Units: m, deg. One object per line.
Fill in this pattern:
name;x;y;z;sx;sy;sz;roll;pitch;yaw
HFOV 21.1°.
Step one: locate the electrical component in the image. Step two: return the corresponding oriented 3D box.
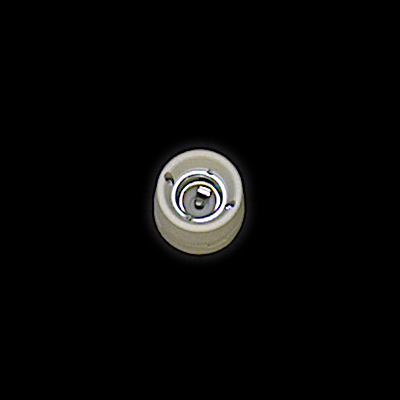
electrical component;0.000;0.000;0.632;0.055;0.056;0.047;0;-16;-1
